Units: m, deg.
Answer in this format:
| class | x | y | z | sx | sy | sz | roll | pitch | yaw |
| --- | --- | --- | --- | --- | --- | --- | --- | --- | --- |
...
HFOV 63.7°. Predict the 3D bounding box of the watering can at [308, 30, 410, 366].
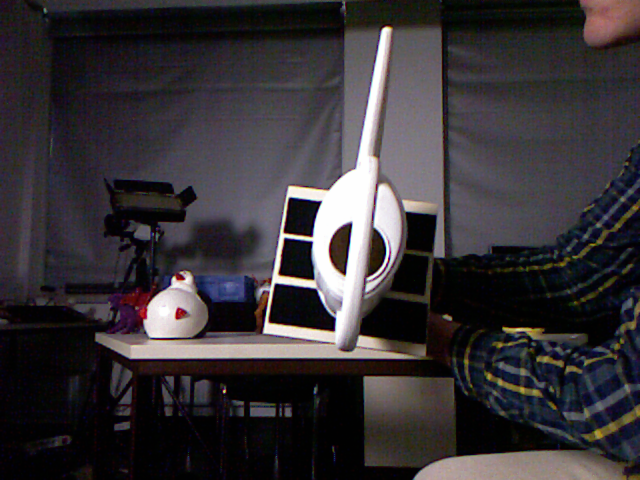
| class | x | y | z | sx | sy | sz | roll | pitch | yaw |
| --- | --- | --- | --- | --- | --- | --- | --- | --- | --- |
| watering can | 0.048 | -0.036 | 0.591 | 0.105 | 0.355 | 0.224 | 9 | -15 | 0 |
